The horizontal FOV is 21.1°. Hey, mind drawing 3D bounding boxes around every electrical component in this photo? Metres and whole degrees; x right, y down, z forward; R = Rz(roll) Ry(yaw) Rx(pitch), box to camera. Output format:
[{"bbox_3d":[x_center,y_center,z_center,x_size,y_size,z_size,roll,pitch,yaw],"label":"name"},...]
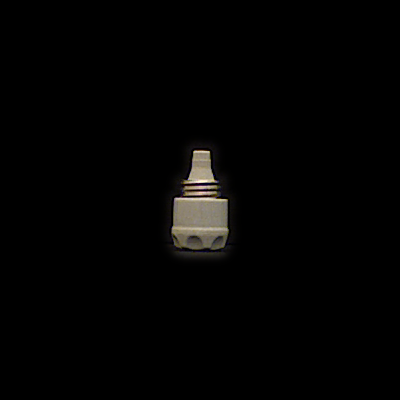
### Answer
[{"bbox_3d":[0.000,0.000,0.664,0.035,0.061,0.035,1,3,0],"label":"electrical component"}]
